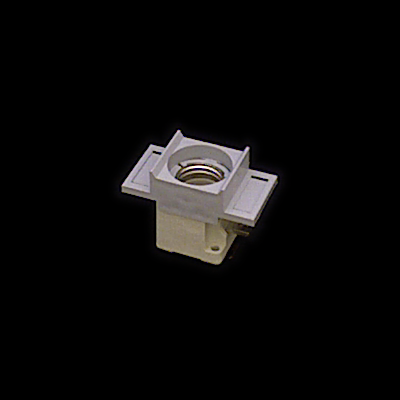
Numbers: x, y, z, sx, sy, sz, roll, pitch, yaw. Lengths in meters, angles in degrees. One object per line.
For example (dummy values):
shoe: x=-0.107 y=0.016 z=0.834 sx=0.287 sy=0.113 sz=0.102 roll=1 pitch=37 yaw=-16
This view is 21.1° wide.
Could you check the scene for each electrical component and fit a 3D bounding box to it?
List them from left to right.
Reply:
electrical component: x=0.000 y=0.000 z=0.629 sx=0.081 sy=0.064 sz=0.042 roll=15 pitch=43 yaw=16
